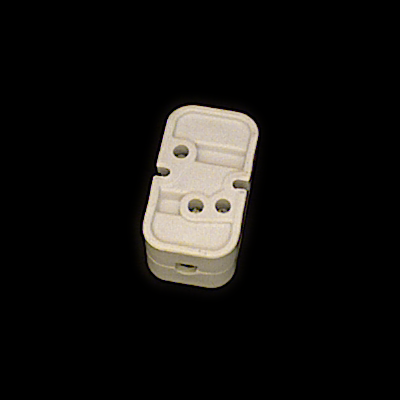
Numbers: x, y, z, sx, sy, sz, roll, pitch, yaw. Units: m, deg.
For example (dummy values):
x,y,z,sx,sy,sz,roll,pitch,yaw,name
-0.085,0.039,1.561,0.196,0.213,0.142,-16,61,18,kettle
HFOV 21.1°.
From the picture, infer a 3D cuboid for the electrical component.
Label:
x,y,z,sx,sy,sz,roll,pitch,yaw,name
0.000,0.000,0.635,0.053,0.095,0.059,9,-27,5,electrical component
